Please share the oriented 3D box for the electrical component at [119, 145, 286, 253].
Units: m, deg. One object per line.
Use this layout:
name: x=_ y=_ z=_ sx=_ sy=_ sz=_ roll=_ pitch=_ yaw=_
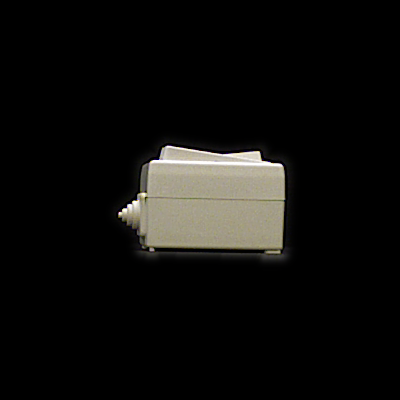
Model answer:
electrical component: x=0.000 y=0.000 z=0.649 sx=0.096 sy=0.061 sz=0.061 roll=2 pitch=0 yaw=-8
